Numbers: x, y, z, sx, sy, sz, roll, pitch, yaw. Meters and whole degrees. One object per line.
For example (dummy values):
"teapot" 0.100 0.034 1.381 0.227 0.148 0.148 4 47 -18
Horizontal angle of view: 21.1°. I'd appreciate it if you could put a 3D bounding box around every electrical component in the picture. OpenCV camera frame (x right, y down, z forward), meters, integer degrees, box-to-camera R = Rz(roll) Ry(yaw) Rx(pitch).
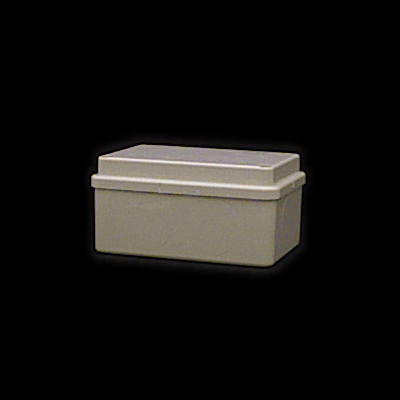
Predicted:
"electrical component" 0.000 0.000 0.646 0.113 0.057 0.078 4 11 18
